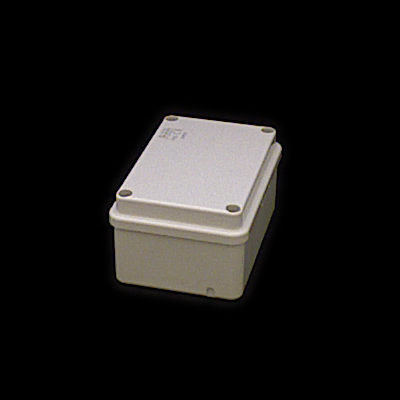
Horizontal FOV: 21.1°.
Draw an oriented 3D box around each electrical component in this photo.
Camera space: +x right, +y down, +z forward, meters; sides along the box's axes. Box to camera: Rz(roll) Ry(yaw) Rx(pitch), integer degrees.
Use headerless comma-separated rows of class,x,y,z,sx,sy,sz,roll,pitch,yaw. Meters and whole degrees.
electrical component,0.000,0.000,0.635,0.078,0.058,0.112,8,32,11
